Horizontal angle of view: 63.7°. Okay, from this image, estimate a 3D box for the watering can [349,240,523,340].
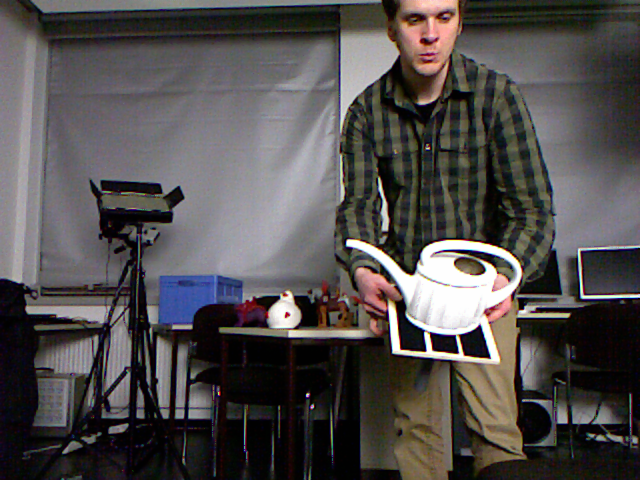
[{"bbox_3d":[0.215,0.088,1.007,0.348,0.220,0.107,5,35,-5],"label":"watering can"}]
